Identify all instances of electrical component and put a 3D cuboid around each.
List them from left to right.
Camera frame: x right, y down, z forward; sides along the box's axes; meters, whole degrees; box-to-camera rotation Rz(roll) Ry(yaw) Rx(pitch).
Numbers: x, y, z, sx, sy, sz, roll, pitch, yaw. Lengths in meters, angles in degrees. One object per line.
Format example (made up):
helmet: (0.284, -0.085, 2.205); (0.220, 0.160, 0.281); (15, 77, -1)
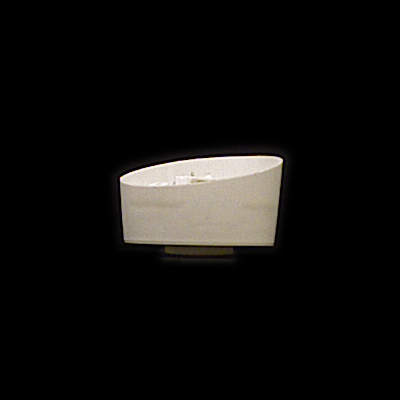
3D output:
electrical component: (0.000, 0.000, 0.651); (0.099, 0.064, 0.099); (1, -1, 0)
